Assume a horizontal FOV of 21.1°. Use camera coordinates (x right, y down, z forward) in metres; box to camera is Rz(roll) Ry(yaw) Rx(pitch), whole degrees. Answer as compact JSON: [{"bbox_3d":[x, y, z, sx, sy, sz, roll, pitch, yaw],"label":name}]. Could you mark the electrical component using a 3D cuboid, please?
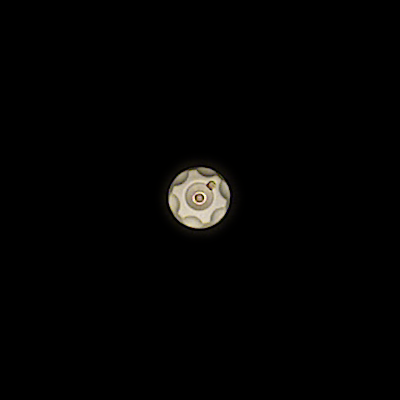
[{"bbox_3d":[0.000,0.000,0.635,0.035,0.035,0.061,0,-5,0],"label":"electrical component"}]
